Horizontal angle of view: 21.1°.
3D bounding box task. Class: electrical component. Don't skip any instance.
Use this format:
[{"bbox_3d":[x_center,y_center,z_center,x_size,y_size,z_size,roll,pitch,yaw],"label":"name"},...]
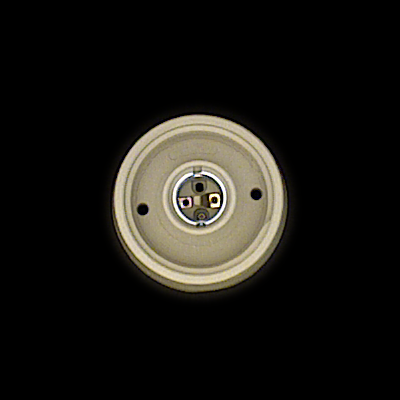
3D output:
[{"bbox_3d":[0.000,0.000,0.634,0.108,0.108,0.060,0,-6,0],"label":"electrical component"}]
